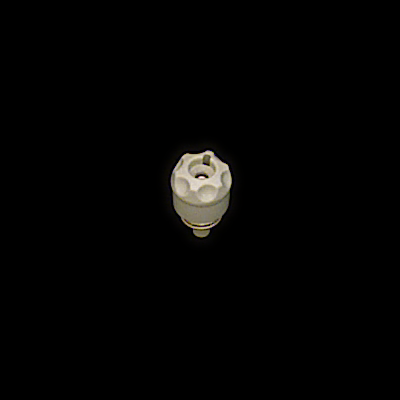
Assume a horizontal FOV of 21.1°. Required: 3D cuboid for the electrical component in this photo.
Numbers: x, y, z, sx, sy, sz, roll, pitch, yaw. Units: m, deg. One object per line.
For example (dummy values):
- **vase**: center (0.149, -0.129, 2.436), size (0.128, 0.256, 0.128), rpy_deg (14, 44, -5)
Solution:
- **electrical component**: center (0.000, 0.000, 0.636), size (0.035, 0.035, 0.062), rpy_deg (0, -37, 0)
